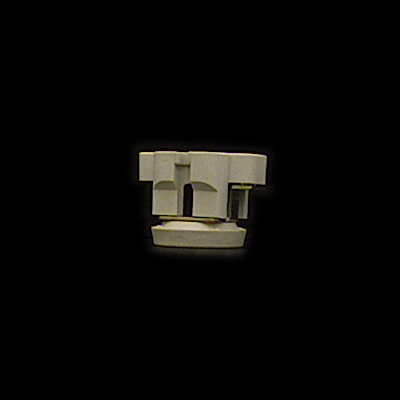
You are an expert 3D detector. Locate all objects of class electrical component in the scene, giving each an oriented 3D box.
[{"bbox_3d":[0.000,0.000,0.657,0.078,0.057,0.058,3,1,25],"label":"electrical component"}]
